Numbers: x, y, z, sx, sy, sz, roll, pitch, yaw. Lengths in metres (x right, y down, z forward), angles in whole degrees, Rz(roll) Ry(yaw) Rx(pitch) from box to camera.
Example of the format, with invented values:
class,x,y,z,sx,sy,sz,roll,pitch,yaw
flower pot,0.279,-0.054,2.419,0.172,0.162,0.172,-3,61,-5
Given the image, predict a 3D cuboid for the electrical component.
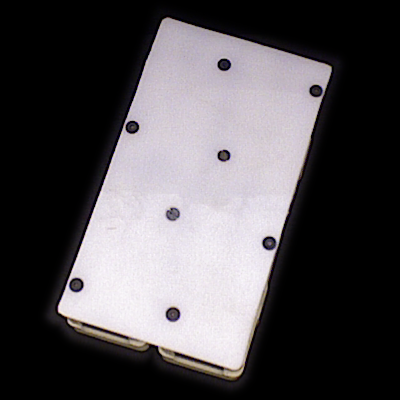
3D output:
class,x,y,z,sx,sy,sz,roll,pitch,yaw
electrical component,0.000,0.000,0.625,0.105,0.187,0.060,17,-16,5
